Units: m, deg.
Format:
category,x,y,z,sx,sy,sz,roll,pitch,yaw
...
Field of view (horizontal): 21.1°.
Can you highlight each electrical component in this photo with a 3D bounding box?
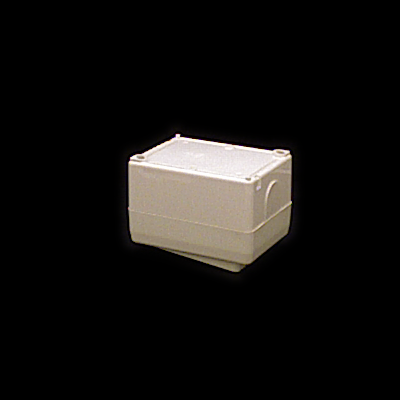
category,x,y,z,sx,sy,sz,roll,pitch,yaw
electrical component,0.000,0.000,0.642,0.096,0.061,0.061,10,23,25
